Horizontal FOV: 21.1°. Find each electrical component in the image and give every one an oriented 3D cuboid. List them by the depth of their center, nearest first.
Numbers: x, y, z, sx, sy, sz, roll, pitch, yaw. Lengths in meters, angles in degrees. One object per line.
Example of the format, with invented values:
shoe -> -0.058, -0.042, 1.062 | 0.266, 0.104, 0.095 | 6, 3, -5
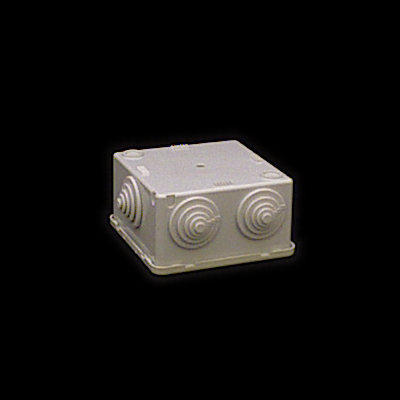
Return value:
electrical component -> 0.000, 0.000, 0.640 | 0.100, 0.049, 0.098 | -7, 22, -21
